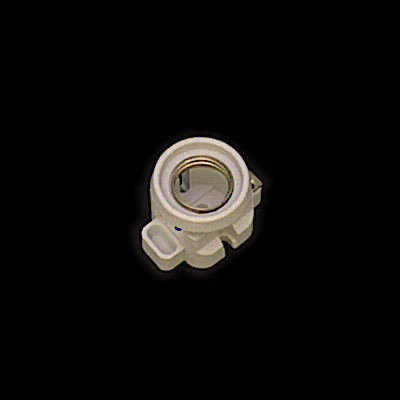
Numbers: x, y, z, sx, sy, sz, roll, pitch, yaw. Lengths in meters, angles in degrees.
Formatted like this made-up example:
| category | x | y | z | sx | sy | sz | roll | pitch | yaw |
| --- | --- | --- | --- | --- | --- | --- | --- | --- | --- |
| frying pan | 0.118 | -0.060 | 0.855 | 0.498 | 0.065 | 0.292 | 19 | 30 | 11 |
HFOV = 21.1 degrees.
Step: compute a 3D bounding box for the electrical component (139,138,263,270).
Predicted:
| category | x | y | z | sx | sy | sz | roll | pitch | yaw |
| --- | --- | --- | --- | --- | --- | --- | --- | --- | --- |
| electrical component | 0.000 | 0.000 | 0.629 | 0.079 | 0.057 | 0.057 | -36 | -22 | -17 |
